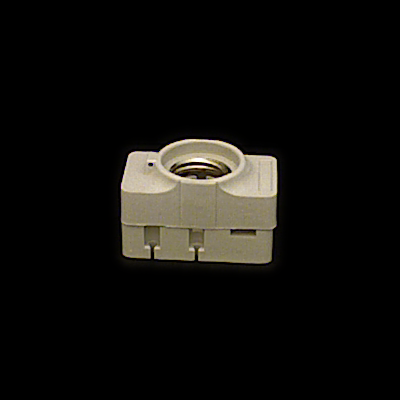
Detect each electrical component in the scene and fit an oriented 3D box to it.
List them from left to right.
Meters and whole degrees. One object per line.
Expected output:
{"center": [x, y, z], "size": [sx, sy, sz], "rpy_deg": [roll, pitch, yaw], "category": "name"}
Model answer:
{"center": [0.000, 0.000, 0.643], "size": [0.089, 0.056, 0.049], "rpy_deg": [2, 32, 1], "category": "electrical component"}
